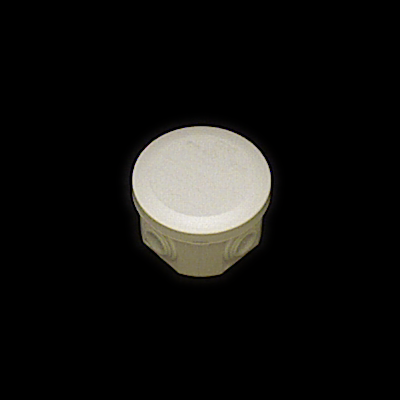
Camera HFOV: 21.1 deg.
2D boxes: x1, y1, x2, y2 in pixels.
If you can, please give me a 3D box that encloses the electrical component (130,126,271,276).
[{"bbox_3d":[0.000,0.000,0.630,0.080,0.080,0.051,0,-38,0],"label":"electrical component"}]
